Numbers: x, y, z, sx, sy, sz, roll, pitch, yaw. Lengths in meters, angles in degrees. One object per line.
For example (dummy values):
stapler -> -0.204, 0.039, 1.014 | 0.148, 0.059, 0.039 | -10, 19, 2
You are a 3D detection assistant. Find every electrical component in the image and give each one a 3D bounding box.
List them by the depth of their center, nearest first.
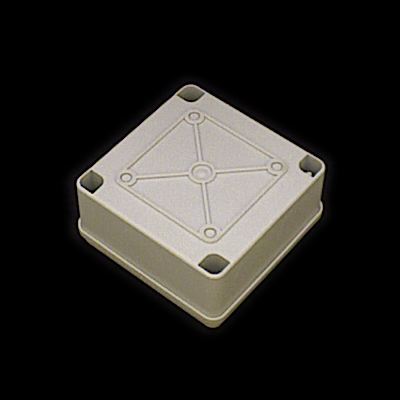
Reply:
electrical component -> 0.000, 0.000, 0.630 | 0.108, 0.108, 0.056 | 33, -31, 22
